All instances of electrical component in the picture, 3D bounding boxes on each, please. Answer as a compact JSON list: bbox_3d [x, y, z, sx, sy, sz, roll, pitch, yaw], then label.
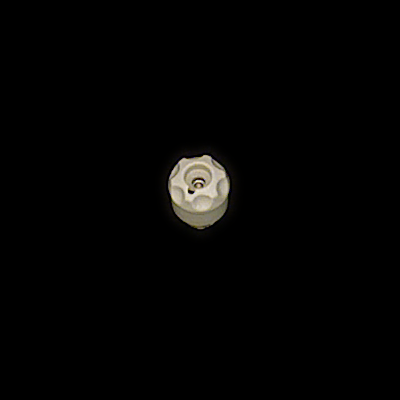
[{"bbox_3d":[0.000,0.000,0.633,0.035,0.035,0.061,0,-27,1],"label":"electrical component"}]
